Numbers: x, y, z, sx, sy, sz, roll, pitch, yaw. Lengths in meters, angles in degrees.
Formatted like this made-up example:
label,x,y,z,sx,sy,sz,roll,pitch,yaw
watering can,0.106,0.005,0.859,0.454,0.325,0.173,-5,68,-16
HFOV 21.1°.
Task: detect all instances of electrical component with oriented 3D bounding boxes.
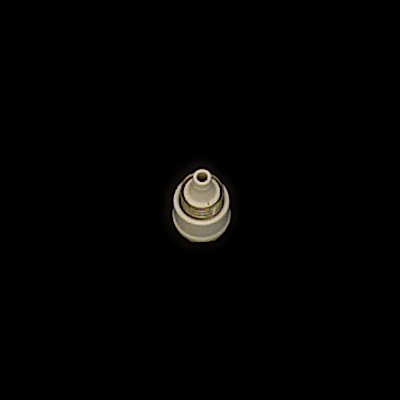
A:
label,x,y,z,sx,sy,sz,roll,pitch,yaw
electrical component,0.000,0.000,0.638,0.035,0.035,0.061,0,-26,-1
